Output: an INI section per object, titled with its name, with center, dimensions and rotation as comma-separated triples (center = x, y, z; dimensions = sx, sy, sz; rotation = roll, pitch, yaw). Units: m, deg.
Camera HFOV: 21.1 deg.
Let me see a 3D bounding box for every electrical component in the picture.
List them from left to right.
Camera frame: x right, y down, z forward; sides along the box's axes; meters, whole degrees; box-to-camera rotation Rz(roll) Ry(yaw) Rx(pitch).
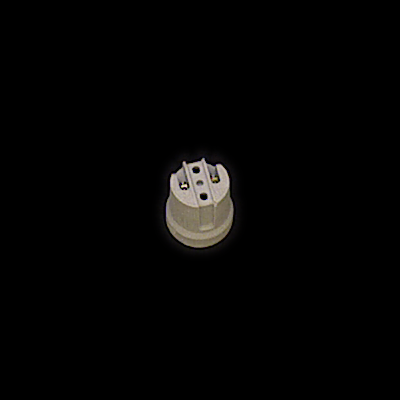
[electrical component]
center = 0.000, 0.000, 0.634
dimensions = 0.040, 0.040, 0.046
rotation = 0, -27, -1
